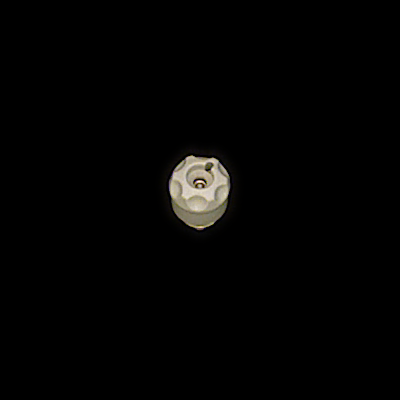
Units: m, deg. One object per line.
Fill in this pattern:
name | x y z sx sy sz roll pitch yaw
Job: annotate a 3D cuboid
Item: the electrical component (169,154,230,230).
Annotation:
electrical component | 0.000 0.000 0.634 0.035 0.035 0.061 0 -27 0
